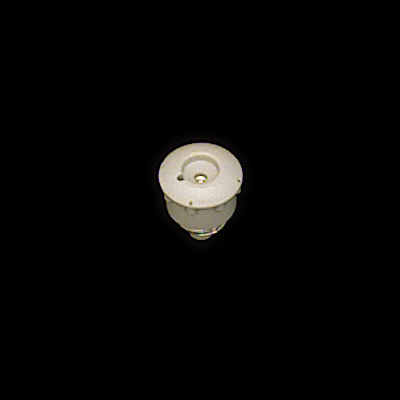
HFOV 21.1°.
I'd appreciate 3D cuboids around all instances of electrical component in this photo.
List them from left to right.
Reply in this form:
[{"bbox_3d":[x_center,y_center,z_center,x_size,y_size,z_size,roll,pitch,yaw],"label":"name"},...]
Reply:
[{"bbox_3d":[0.000,0.000,0.633,0.048,0.048,0.062,0,-37,0],"label":"electrical component"}]
